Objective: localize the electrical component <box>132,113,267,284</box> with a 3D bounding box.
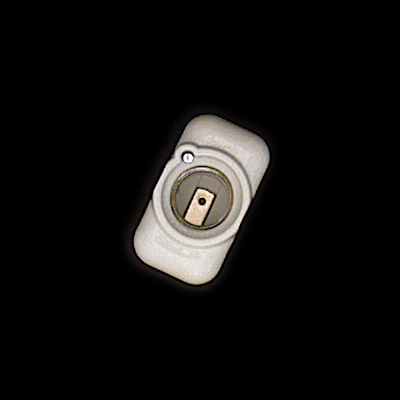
[{"bbox_3d":[0.000,0.000,0.635,0.054,0.095,0.059,24,-5,3],"label":"electrical component"}]
